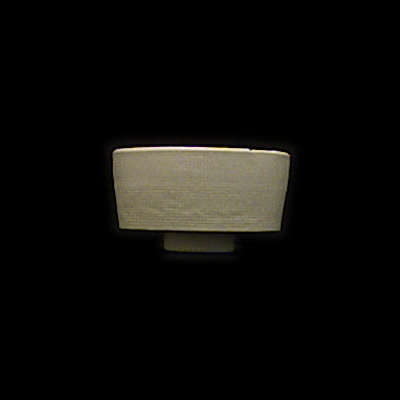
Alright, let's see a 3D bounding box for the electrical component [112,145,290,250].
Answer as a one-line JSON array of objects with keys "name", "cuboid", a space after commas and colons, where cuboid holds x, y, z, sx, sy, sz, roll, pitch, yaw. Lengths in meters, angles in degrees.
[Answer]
[{"name": "electrical component", "cuboid": [0.000, 0.000, 0.656, 0.108, 0.060, 0.108, 1, 0, 0]}]
